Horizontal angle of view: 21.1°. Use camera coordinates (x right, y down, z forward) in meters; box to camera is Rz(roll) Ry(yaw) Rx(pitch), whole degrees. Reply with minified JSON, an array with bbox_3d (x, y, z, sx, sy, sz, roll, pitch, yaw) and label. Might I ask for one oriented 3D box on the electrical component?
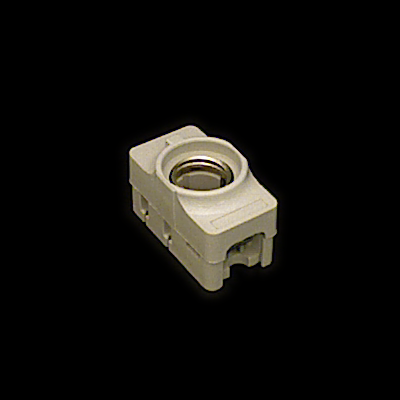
[{"bbox_3d":[0.000,0.000,0.640,0.050,0.056,0.088,-25,49,-25],"label":"electrical component"}]
